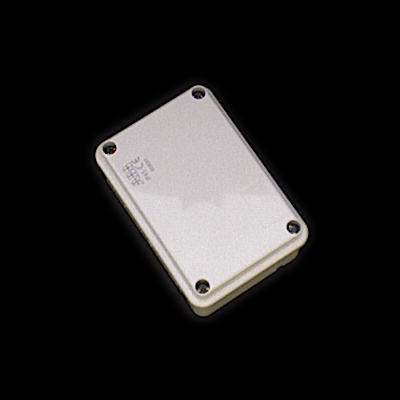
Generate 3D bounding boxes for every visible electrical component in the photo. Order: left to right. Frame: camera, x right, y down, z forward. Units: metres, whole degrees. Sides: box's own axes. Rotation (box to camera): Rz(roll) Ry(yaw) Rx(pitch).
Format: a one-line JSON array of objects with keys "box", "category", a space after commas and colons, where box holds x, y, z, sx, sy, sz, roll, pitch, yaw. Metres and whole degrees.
[{"box": [0.000, 0.000, 0.626, 0.078, 0.113, 0.057, -32, -14, -9], "category": "electrical component"}]
